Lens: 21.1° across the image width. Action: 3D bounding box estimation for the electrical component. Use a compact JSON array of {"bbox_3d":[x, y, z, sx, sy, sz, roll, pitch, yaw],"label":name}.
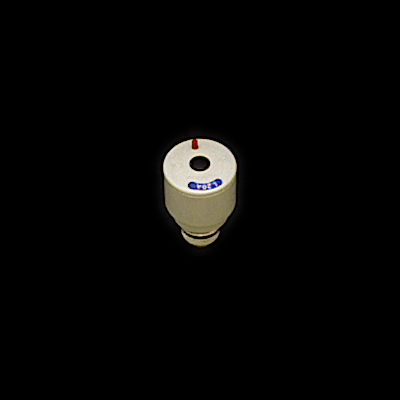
[{"bbox_3d":[0.000,0.000,0.622,0.040,0.040,0.079,0,-38,0],"label":"electrical component"}]
